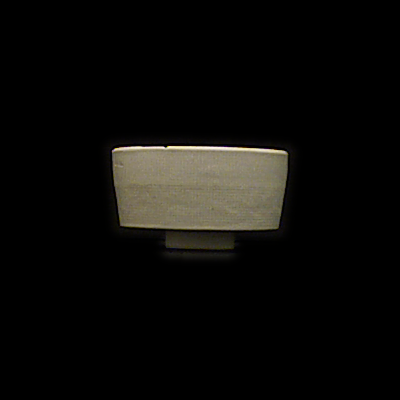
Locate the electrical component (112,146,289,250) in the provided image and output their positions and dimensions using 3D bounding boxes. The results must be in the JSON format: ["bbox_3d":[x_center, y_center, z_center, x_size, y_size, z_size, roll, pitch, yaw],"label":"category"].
[{"bbox_3d":[0.000,0.000,0.660,0.108,0.060,0.108,1,1,1],"label":"electrical component"}]
